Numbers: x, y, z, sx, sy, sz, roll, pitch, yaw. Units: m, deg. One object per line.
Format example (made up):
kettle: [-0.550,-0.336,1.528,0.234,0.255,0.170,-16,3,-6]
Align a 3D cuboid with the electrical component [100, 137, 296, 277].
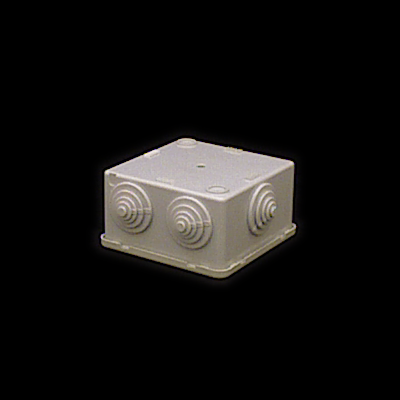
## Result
electrical component: [0.000,0.000,0.641,0.099,0.049,0.099,14,24,30]
